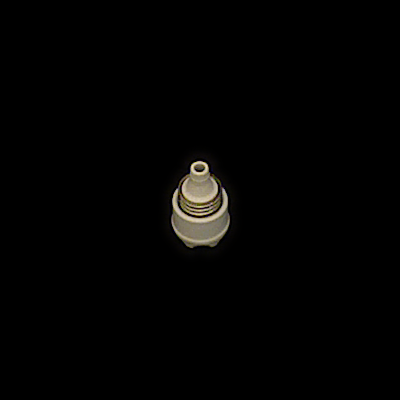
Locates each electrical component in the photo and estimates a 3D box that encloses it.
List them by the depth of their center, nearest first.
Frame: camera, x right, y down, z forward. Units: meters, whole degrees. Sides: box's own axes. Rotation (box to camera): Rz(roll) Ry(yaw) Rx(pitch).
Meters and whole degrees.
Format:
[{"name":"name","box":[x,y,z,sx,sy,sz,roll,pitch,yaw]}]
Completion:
[{"name":"electrical component","box":[0.000,0.000,0.639,0.035,0.035,0.062,0,-39,0]}]
